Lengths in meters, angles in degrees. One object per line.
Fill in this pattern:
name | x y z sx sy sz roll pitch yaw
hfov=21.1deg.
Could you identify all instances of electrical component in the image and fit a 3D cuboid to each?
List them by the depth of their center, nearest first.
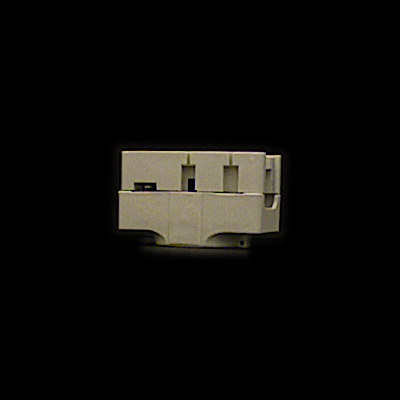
electrical component | 0.000 0.000 0.657 0.089 0.056 0.050 2 1 19
